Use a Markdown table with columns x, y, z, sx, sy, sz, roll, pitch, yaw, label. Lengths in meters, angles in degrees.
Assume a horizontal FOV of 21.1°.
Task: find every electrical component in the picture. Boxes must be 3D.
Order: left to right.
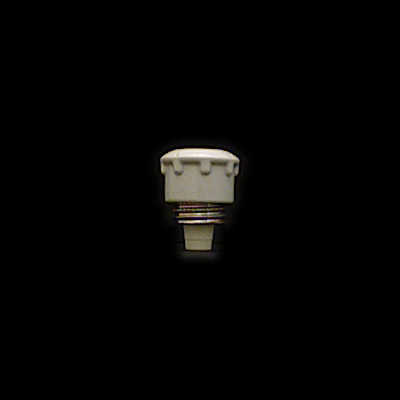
| x | y | z | sx | sy | sz | roll | pitch | yaw | label |
| --- | --- | --- | --- | --- | --- | --- | --- | --- | --- |
| 0.000 | 0.000 | 0.654 | 0.048 | 0.062 | 0.048 | 1 | 1 | 0 | electrical component |
